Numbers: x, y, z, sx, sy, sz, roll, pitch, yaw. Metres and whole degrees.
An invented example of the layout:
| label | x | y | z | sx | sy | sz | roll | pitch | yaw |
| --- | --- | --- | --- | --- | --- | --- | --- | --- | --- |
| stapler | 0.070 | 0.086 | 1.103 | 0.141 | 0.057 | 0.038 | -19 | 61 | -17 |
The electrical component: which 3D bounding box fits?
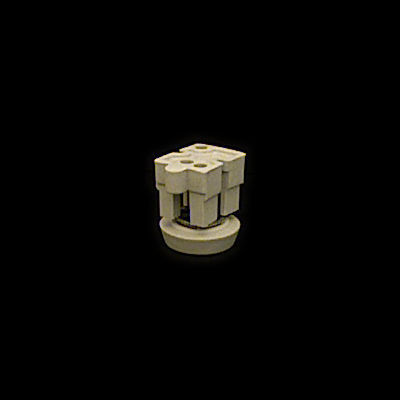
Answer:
| label | x | y | z | sx | sy | sz | roll | pitch | yaw |
| --- | --- | --- | --- | --- | --- | --- | --- | --- | --- |
| electrical component | 0.000 | 0.000 | 0.646 | 0.048 | 0.056 | 0.066 | 14 | 24 | 32 |
